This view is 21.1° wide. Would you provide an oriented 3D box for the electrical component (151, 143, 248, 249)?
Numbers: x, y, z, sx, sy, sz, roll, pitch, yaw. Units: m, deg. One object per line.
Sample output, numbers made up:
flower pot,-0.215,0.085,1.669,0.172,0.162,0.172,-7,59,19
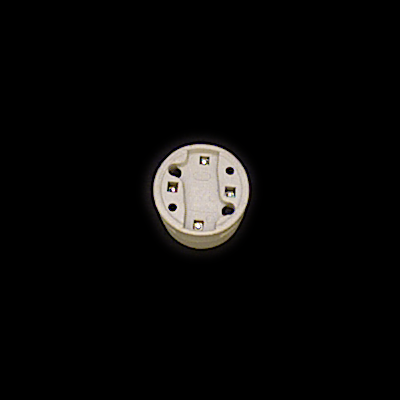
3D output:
electrical component,0.000,0.000,0.634,0.055,0.056,0.047,0,-17,1
